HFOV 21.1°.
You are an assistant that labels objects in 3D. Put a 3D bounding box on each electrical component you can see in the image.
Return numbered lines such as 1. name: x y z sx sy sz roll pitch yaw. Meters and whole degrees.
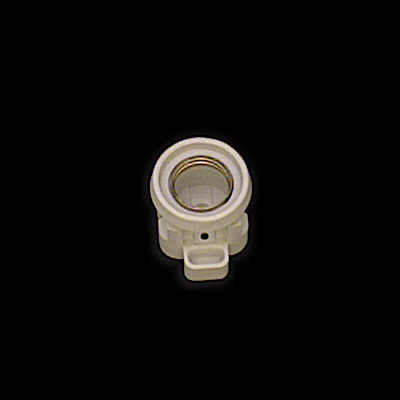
1. electrical component: 0.000 0.000 0.629 0.058 0.078 0.057 -4 -27 -2
